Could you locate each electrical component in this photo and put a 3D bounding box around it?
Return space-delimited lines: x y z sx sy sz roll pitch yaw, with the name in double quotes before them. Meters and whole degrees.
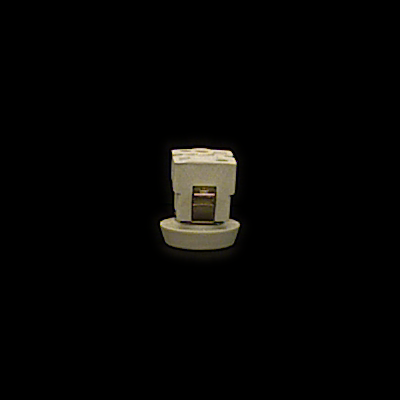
"electrical component" 0.000 0.000 0.652 0.048 0.056 0.066 2 13 -4
